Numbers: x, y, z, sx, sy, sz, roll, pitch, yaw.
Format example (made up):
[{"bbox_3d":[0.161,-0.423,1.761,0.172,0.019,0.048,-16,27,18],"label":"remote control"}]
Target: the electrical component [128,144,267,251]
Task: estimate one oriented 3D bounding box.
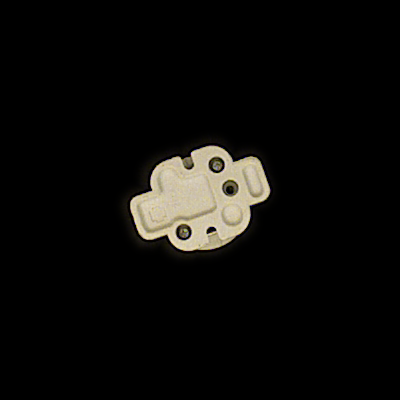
[{"bbox_3d":[0.000,0.000,0.637,0.078,0.058,0.057,-20,-5,0],"label":"electrical component"}]
